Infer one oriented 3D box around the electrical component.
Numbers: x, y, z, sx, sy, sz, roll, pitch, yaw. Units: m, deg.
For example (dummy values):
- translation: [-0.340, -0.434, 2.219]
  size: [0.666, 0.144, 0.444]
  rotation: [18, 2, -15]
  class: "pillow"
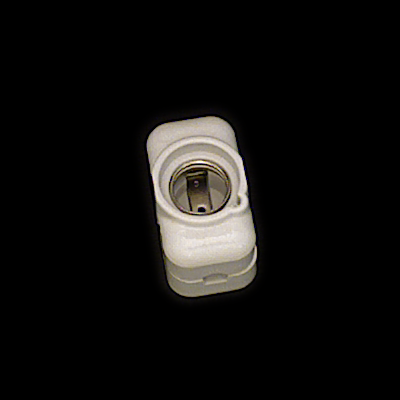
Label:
- translation: [0.000, 0.000, 0.634]
  size: [0.054, 0.095, 0.059]
  rotation: [-9, -26, -4]
  class: "electrical component"
